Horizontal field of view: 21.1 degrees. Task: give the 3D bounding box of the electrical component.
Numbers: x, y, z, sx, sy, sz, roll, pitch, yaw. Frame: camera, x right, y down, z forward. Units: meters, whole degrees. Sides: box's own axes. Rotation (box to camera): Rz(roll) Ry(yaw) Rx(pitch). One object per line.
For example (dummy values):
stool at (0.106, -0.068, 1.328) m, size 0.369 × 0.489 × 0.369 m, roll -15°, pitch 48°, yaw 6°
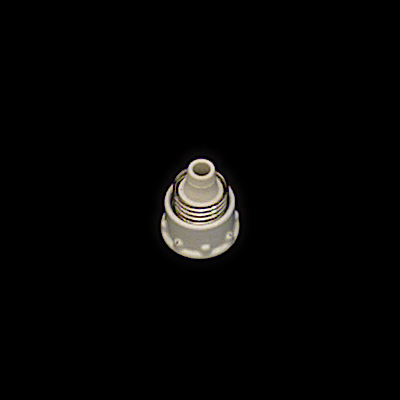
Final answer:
electrical component at (0.000, 0.000, 0.636) m, size 0.048 × 0.048 × 0.062 m, roll 0°, pitch -37°, yaw -2°
